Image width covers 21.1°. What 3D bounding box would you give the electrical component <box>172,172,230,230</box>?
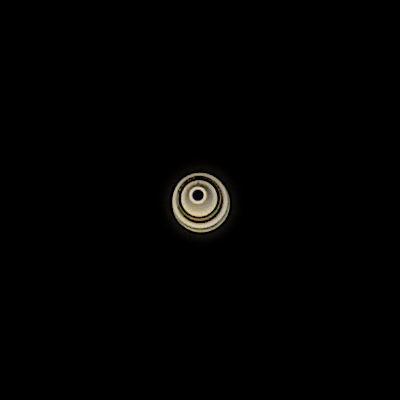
[{"bbox_3d":[0.000,0.000,0.637,0.035,0.035,0.061,0,-7,2],"label":"electrical component"}]
